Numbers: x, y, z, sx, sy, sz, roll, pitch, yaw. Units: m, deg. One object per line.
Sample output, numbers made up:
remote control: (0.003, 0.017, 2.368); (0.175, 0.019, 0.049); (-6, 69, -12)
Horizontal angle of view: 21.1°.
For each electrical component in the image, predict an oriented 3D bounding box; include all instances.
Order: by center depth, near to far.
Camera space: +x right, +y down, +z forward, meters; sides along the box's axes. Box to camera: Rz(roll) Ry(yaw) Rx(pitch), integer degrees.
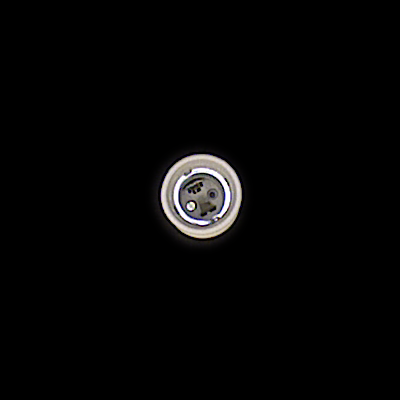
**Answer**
electrical component: (0.000, 0.000, 0.629); (0.045, 0.045, 0.055); (0, -7, 1)
